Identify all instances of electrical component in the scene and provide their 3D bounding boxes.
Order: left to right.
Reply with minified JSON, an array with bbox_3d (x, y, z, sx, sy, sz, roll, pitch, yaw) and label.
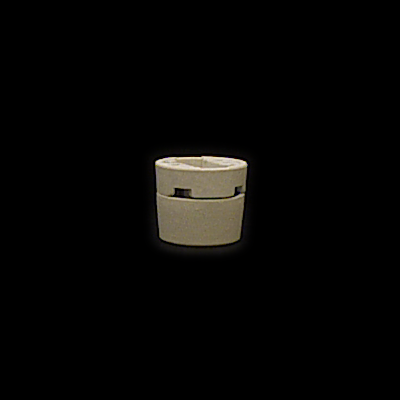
[{"bbox_3d":[0.000,0.000,0.646,0.055,0.047,0.055,2,11,0],"label":"electrical component"}]
